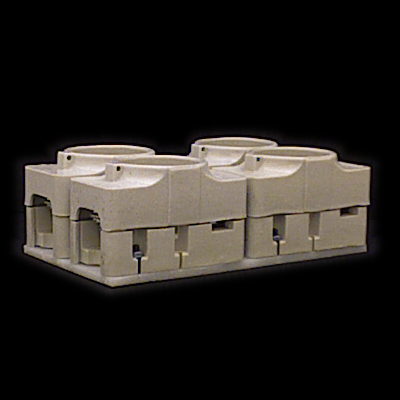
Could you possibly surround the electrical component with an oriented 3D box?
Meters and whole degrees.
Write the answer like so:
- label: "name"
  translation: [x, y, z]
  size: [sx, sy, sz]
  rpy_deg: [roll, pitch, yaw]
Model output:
- label: "electrical component"
  translation: [0.000, 0.000, 0.643]
  size: [0.186, 0.061, 0.104]
  rpy_deg: [-6, 12, -35]
